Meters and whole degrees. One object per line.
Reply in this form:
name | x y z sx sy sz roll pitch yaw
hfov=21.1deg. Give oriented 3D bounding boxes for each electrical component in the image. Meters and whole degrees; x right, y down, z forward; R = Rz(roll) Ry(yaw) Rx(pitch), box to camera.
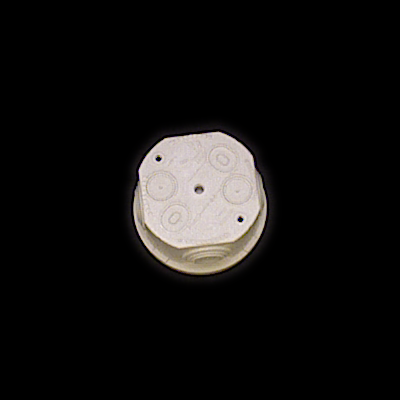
electrical component | 0.000 0.000 0.632 0.080 0.080 0.050 0 -17 0
